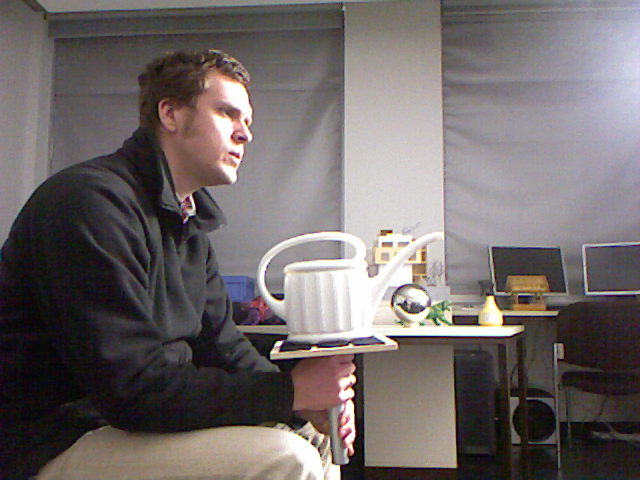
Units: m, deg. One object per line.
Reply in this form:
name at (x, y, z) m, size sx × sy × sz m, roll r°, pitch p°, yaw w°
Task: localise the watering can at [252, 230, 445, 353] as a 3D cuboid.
watering can at (0.056, 0.091, 0.908) m, size 0.348 × 0.224 × 0.104 m, roll -4°, pitch 0°, yaw 0°
